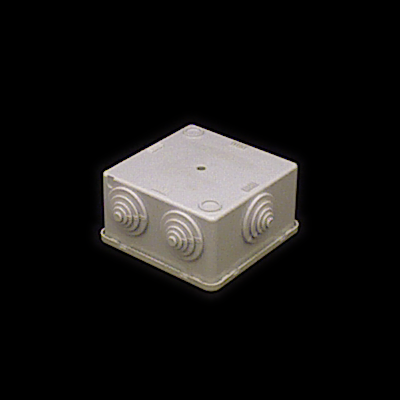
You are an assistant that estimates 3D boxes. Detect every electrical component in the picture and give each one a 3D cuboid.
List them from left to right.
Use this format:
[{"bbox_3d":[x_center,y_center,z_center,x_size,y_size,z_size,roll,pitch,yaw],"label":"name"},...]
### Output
[{"bbox_3d":[0.000,0.000,0.637,0.099,0.049,0.099,23,38,32],"label":"electrical component"}]
